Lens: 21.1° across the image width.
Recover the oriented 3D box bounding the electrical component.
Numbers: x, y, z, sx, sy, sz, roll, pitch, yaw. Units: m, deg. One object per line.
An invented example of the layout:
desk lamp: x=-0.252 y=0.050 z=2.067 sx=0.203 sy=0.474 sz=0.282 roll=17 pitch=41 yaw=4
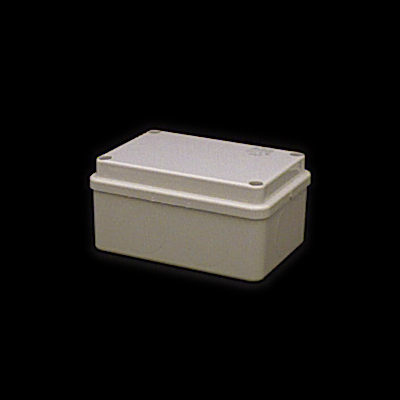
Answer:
electrical component: x=0.000 y=0.000 z=0.641 sx=0.112 sy=0.058 sz=0.077 roll=10 pitch=23 yaw=24
